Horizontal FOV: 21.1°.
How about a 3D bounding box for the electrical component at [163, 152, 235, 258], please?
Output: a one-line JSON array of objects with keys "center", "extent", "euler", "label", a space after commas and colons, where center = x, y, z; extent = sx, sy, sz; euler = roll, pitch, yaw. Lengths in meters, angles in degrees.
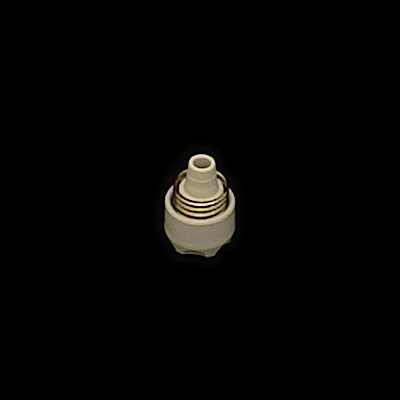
[{"center": [0.000, 0.000, 0.637], "extent": [0.043, 0.062, 0.043], "euler": [1, 43, -1], "label": "electrical component"}]
